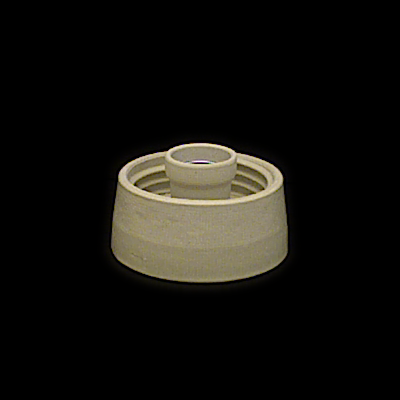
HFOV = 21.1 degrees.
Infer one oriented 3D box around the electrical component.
[{"bbox_3d":[0.000,0.000,0.647,0.108,0.061,0.106,1,21,0],"label":"electrical component"}]
